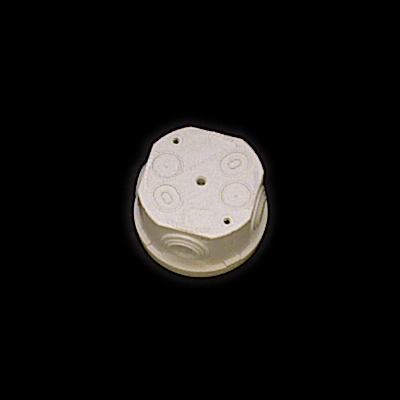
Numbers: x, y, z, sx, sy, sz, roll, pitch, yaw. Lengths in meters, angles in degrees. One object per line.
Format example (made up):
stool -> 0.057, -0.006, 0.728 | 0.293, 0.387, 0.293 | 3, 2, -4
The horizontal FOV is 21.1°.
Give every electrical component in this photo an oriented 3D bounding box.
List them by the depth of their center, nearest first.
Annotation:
electrical component -> 0.000, 0.000, 0.631 | 0.080, 0.080, 0.050 | 0, -27, -1
